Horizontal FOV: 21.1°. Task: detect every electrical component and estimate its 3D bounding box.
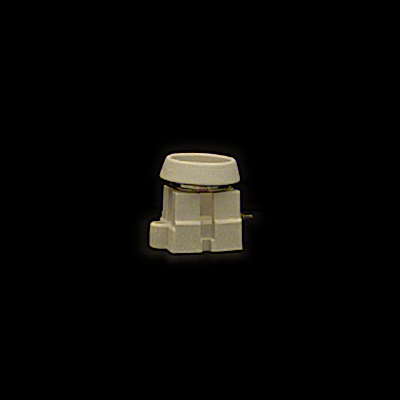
[{"bbox_3d":[0.000,0.000,0.653,0.067,0.056,0.048,-2,14,-17],"label":"electrical component"}]
